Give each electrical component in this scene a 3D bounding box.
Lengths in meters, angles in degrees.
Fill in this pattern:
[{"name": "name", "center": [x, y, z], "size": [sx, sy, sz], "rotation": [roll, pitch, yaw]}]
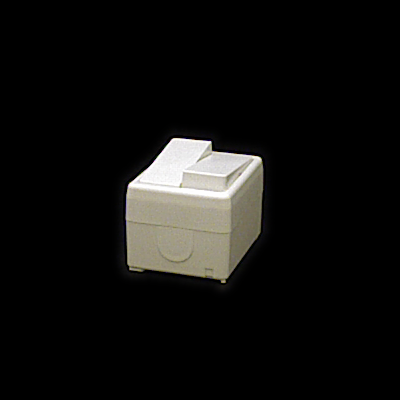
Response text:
[{"name": "electrical component", "center": [0.000, 0.000, 0.641], "size": [0.061, 0.061, 0.095], "rotation": [7, 22, 16]}]
